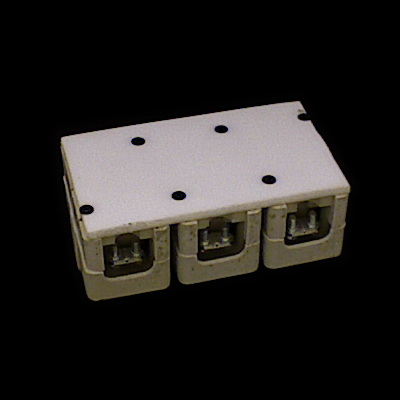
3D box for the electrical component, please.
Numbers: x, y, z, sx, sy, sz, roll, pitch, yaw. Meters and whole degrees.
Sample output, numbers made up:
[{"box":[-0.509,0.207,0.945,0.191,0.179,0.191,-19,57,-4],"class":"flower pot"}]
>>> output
[{"box":[0.000,0.000,0.634,0.150,0.063,0.088,-10,42,-11],"class":"electrical component"}]
